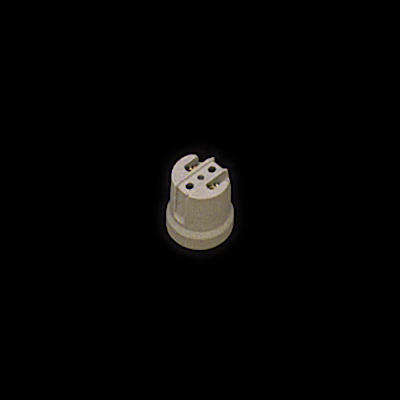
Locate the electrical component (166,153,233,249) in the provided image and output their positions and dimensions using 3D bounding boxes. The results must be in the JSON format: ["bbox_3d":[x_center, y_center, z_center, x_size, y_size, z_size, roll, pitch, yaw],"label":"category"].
[{"bbox_3d":[0.000,0.000,0.634,0.040,0.040,0.046,0,-37,-1],"label":"electrical component"}]
